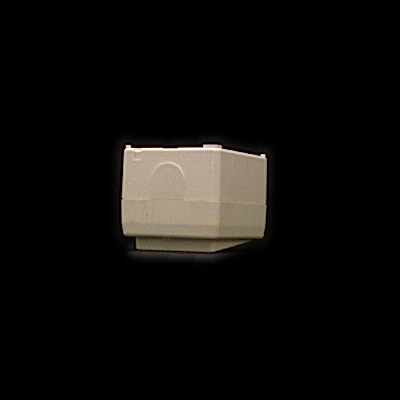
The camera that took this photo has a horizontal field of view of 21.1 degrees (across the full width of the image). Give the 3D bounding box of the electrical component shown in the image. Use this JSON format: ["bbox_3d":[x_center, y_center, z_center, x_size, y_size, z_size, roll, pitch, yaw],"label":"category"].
[{"bbox_3d":[0.000,0.000,0.651,0.062,0.061,0.096,1,-1,24],"label":"electrical component"}]
